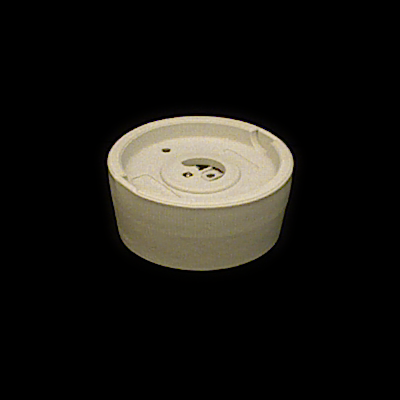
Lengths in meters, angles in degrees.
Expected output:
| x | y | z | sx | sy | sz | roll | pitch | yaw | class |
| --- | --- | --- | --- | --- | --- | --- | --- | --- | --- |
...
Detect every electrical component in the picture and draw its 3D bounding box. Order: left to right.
| x | y | z | sx | sy | sz | roll | pitch | yaw | class |
| --- | --- | --- | --- | --- | --- | --- | --- | --- | --- |
| 0.000 | 0.000 | 0.638 | 0.108 | 0.061 | 0.106 | 1 | 32 | 0 | electrical component |
